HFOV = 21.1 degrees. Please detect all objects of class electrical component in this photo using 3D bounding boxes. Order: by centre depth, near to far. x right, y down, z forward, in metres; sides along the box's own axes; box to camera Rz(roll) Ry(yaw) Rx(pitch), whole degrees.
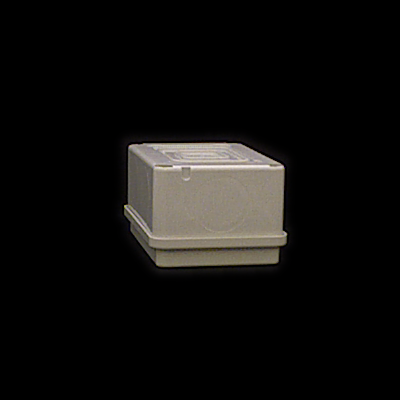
[{"bbox_3d":[0.000,0.000,0.644,0.078,0.057,0.112,-1,10,-12],"label":"electrical component"}]
